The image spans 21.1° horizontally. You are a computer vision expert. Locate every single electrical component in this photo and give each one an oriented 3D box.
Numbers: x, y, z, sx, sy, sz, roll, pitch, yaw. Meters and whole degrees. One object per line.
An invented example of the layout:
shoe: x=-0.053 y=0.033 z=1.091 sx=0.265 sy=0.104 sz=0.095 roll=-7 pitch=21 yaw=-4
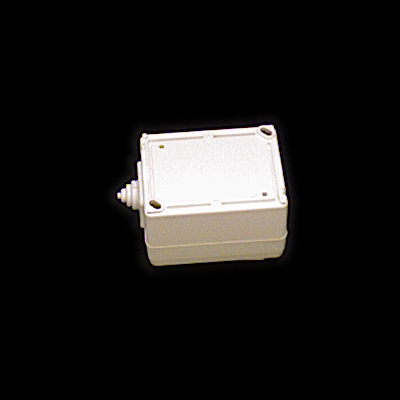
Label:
electrical component: x=0.000 y=0.000 z=0.631 sx=0.096 sy=0.061 sz=0.061 roll=-4 pitch=-38 yaw=-3
